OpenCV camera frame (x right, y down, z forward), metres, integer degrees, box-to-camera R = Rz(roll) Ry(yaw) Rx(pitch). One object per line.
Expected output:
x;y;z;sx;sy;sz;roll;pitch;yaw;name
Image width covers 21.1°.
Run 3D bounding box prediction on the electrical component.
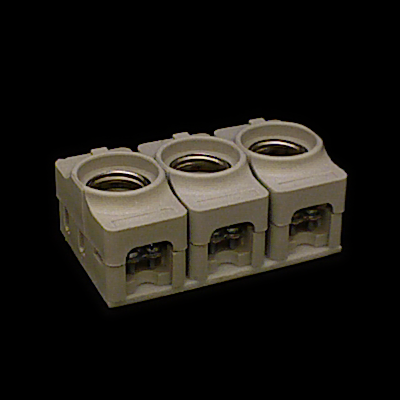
0.000;0.000;0.641;0.150;0.063;0.087;-12;33;-22;electrical component
